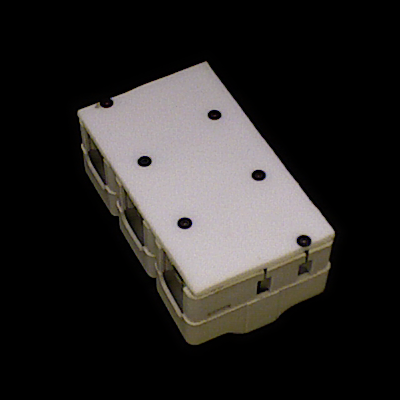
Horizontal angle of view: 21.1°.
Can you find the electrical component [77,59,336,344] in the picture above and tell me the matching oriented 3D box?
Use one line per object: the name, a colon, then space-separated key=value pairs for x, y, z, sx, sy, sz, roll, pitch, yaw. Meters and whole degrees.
electrical component: x=0.000 y=0.000 z=0.632 sx=0.089 sy=0.148 sz=0.062 roll=-23 pitch=-34 yaw=-17
